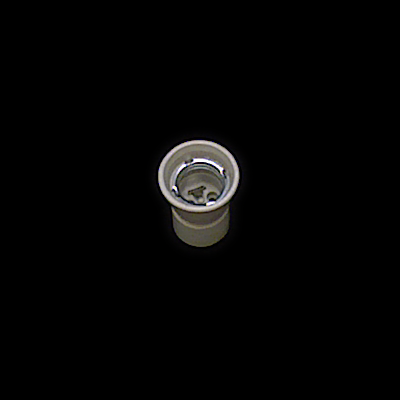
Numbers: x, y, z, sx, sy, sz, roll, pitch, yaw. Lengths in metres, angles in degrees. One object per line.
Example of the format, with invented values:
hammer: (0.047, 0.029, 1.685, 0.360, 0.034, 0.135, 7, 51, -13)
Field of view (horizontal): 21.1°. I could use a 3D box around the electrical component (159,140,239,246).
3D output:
electrical component: (0.000, 0.000, 0.624, 0.044, 0.044, 0.065, 0, -26, 1)
